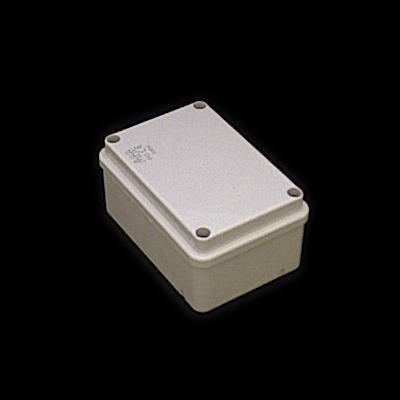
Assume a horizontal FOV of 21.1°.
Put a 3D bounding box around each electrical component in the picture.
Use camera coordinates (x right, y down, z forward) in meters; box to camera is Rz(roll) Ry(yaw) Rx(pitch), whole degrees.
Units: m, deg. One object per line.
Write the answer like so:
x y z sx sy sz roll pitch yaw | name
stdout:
0.000 0.000 0.630 0.078 0.057 0.112 -24 48 -25 | electrical component
